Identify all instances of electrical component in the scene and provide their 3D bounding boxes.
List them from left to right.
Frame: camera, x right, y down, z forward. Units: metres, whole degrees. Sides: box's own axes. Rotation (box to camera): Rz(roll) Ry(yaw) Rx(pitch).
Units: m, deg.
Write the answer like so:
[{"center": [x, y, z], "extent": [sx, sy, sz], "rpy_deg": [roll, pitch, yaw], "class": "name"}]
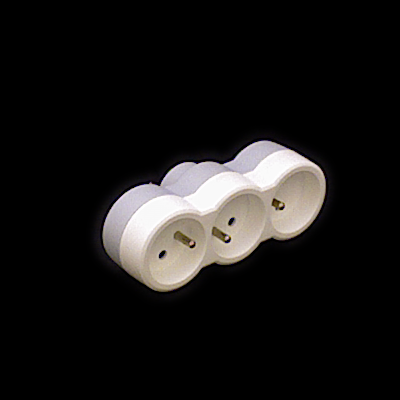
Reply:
[{"center": [0.000, 0.000, 0.634], "extent": [0.138, 0.053, 0.073], "rpy_deg": [-22, 36, -32], "class": "electrical component"}]
